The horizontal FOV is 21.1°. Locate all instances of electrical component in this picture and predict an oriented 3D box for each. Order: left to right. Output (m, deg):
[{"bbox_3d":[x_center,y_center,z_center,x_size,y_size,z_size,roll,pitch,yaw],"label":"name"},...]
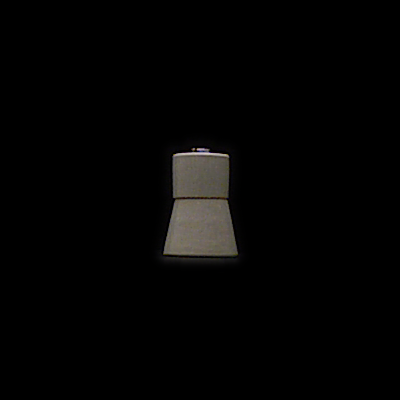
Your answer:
[{"bbox_3d":[0.000,0.000,0.651,0.044,0.065,0.044,0,1,0],"label":"electrical component"}]
